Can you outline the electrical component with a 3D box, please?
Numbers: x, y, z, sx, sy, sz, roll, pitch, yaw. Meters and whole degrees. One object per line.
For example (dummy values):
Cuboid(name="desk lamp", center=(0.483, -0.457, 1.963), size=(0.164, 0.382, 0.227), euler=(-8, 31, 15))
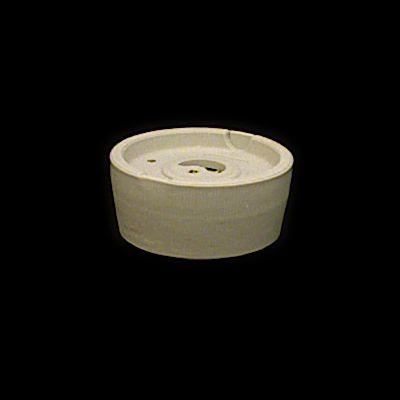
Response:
Cuboid(name="electrical component", center=(0.000, 0.000, 0.642), size=(0.108, 0.061, 0.106), euler=(1, 21, 0))
